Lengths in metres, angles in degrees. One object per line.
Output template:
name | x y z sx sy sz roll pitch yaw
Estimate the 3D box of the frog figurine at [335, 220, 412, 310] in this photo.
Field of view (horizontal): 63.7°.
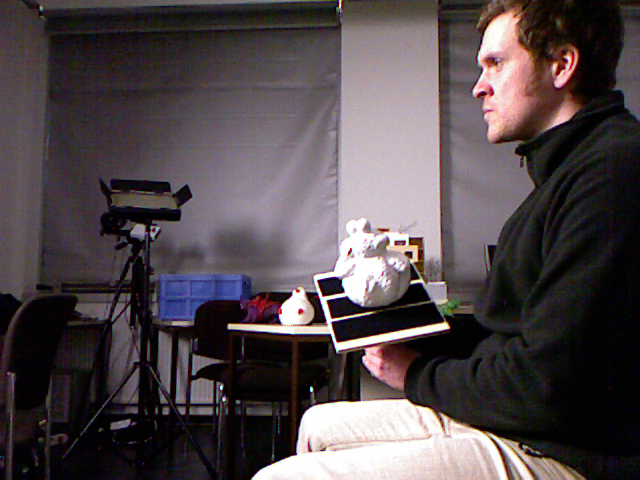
frog figurine | 0.097 0.044 0.926 0.138 0.156 0.126 3 41 7
